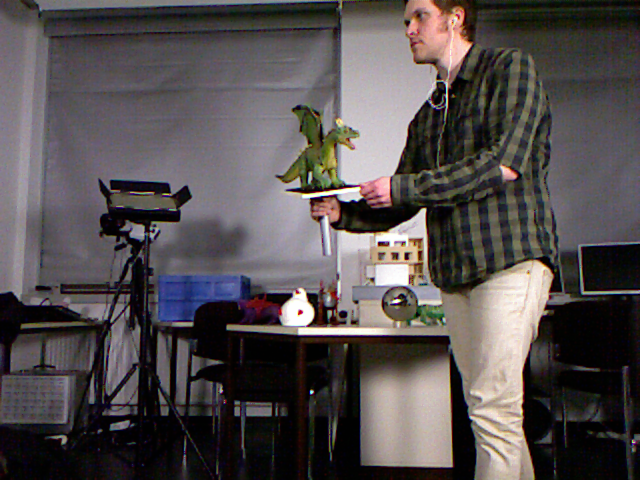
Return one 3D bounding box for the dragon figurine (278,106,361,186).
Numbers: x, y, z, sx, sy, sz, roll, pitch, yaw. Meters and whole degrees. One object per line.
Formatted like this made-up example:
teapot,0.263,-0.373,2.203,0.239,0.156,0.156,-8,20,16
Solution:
dragon figurine,-0.031,-0.280,1.540,0.123,0.240,0.411,-16,16,-37
